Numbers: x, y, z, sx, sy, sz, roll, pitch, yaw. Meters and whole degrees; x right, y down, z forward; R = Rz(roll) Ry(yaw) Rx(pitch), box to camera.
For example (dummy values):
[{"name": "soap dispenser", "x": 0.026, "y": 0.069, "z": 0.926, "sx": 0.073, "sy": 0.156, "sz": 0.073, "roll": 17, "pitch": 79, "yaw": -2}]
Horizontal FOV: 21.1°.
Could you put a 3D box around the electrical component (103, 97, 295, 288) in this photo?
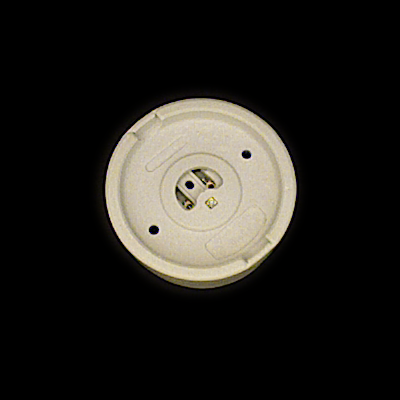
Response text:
[{"name": "electrical component", "x": 0.000, "y": 0.000, "z": 0.633, "sx": 0.108, "sy": 0.108, "sz": 0.060, "roll": 0, "pitch": -16, "yaw": 0}]
